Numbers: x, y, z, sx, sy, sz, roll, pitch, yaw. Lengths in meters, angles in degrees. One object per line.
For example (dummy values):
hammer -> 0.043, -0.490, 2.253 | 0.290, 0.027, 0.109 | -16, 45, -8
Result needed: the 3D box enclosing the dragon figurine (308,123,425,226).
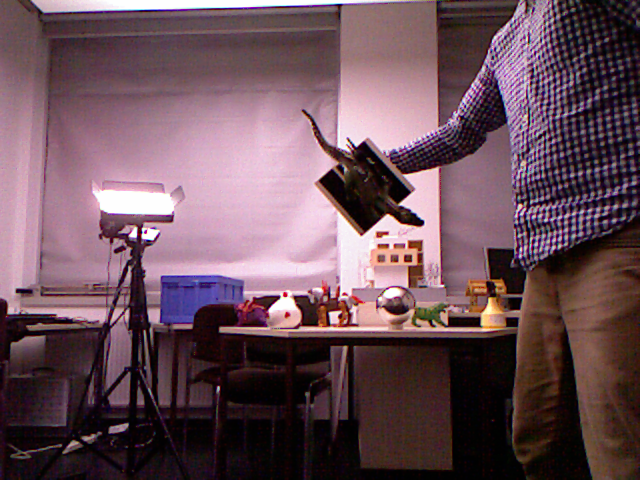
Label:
dragon figurine -> 0.109, -0.177, 1.328 | 0.123, 0.411, 0.242 | -44, -1, -7
